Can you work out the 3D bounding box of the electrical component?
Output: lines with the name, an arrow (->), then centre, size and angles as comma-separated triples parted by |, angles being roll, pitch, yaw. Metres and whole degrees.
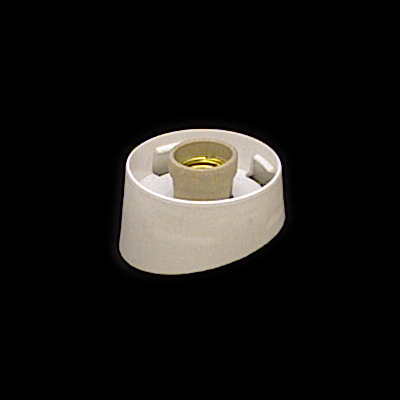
electrical component -> 0.000, 0.000, 0.634 | 0.099, 0.065, 0.097 | 0, 31, 0
